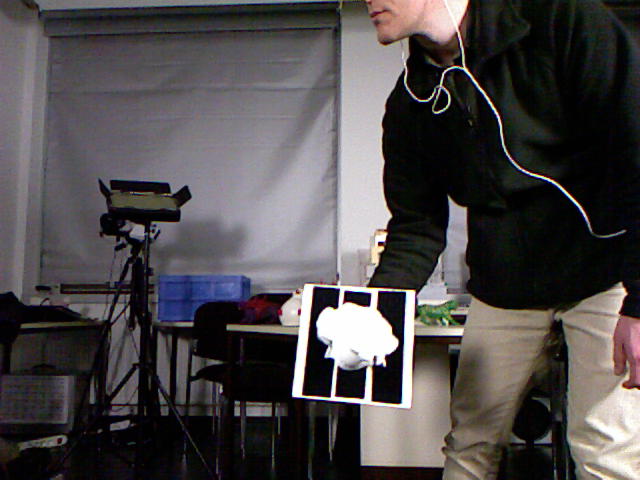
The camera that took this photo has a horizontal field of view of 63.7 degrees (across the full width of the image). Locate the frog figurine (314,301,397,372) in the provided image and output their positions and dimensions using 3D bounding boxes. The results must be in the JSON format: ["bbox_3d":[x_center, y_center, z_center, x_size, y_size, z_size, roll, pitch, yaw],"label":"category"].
[{"bbox_3d":[0.054,0.154,0.841,0.138,0.124,0.157,24,-16,14],"label":"frog figurine"}]
